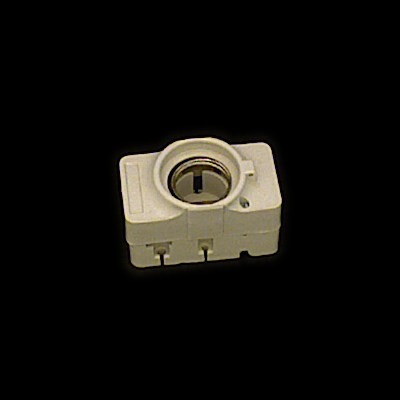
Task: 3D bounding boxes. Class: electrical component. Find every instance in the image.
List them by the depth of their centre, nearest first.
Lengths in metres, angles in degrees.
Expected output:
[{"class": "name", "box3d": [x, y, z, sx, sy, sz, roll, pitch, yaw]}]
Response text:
[{"class": "electrical component", "box3d": [0.000, 0.000, 0.637, 0.090, 0.050, 0.056, -6, -37, -5]}]
